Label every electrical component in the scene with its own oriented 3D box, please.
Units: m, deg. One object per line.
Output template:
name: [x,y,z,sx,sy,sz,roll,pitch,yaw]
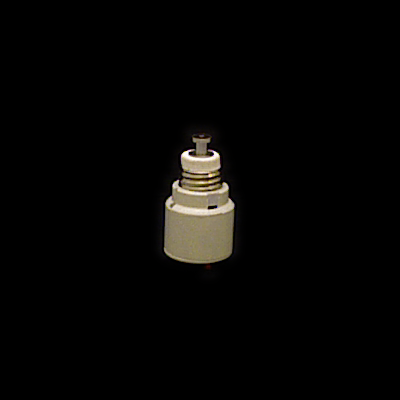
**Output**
electrical component: [0.000,0.000,0.635,0.040,0.079,0.039,2,20,0]
